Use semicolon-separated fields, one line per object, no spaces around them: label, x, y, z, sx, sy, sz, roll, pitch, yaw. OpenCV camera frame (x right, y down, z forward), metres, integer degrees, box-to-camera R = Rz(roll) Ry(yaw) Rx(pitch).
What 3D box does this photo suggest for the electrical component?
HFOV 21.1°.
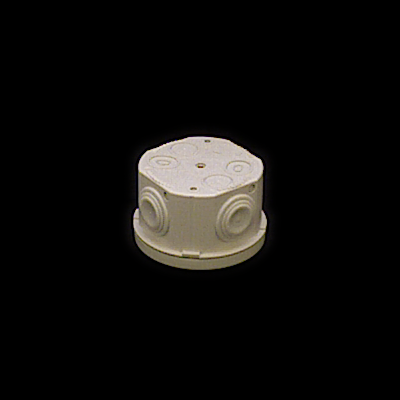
electrical component;0.000;0.000;0.638;0.080;0.051;0.079;1;31;0
